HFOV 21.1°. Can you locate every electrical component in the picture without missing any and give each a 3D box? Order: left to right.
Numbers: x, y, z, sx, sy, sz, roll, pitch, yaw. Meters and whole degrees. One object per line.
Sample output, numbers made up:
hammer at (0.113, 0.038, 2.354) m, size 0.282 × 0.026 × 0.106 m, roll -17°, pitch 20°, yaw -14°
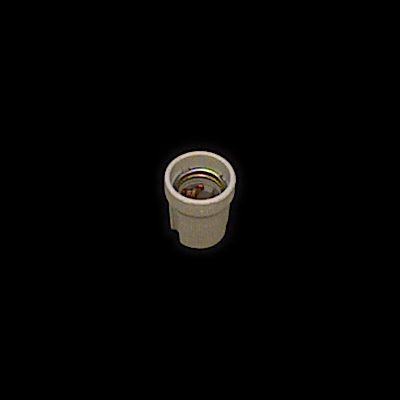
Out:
electrical component at (0.000, 0.000, 0.631) m, size 0.040 × 0.039 × 0.047 m, roll 0°, pitch -38°, yaw -1°
